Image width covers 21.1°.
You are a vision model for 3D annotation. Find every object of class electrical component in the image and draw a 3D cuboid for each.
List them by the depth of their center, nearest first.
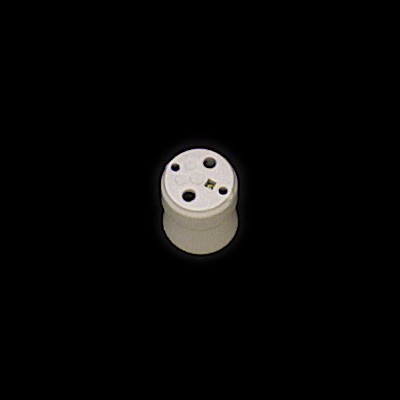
[{"bbox_3d":[0.000,0.000,0.628,0.045,0.045,0.055,0,-27,0],"label":"electrical component"}]
